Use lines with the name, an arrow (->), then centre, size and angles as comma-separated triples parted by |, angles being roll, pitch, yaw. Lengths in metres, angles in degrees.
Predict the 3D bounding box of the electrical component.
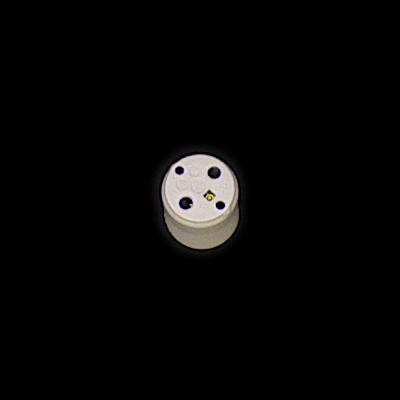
electrical component -> 0.000, 0.000, 0.628 | 0.045, 0.045, 0.055 | 0, -17, 1
